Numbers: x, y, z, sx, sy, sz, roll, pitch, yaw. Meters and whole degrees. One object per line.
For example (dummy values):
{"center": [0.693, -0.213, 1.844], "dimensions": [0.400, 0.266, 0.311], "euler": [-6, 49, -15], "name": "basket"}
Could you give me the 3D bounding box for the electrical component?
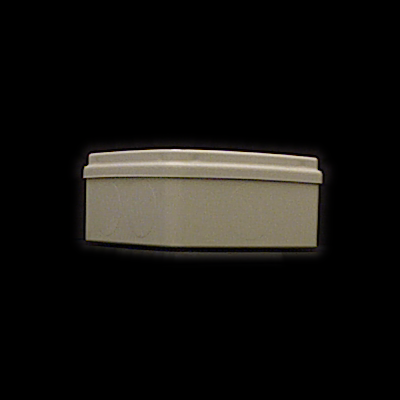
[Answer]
{"center": [0.000, 0.000, 0.649], "dimensions": [0.109, 0.056, 0.108], "euler": [1, 0, -34], "name": "electrical component"}
